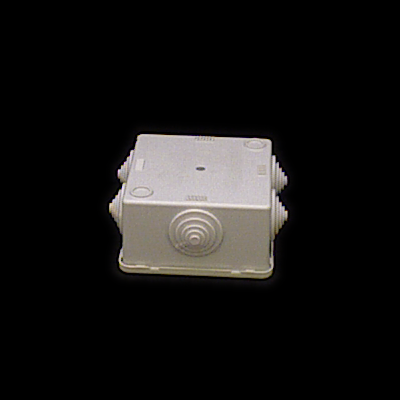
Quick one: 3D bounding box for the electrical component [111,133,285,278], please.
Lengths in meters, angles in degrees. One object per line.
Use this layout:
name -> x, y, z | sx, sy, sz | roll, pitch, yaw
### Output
electrical component -> 0.000, 0.000, 0.638 | 0.100, 0.049, 0.098 | 3, 31, 2
